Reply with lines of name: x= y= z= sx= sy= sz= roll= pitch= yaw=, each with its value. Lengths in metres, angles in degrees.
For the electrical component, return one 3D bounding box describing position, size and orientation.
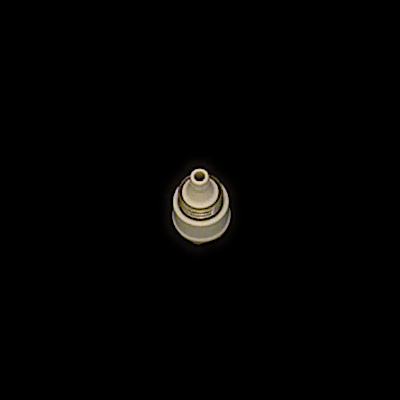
electrical component: x=0.000 y=0.000 z=0.637 sx=0.035 sy=0.035 sz=0.061 roll=0 pitch=-28 yaw=1
